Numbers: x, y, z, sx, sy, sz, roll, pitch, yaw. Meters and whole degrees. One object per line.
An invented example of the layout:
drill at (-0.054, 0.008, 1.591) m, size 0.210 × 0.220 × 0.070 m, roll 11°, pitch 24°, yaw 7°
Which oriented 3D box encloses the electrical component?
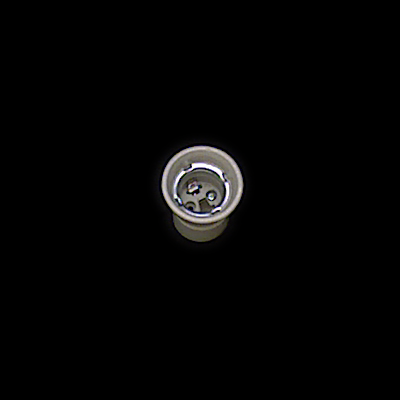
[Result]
electrical component at (0.000, 0.000, 0.625) m, size 0.044 × 0.044 × 0.065 m, roll 0°, pitch -18°, yaw 0°
